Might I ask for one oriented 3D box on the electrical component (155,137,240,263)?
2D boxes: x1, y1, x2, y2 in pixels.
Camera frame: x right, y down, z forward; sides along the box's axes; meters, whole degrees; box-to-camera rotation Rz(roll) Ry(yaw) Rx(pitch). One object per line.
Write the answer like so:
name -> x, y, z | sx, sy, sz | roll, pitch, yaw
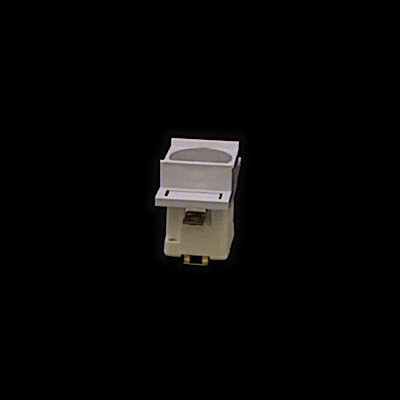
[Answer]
electrical component -> 0.000, 0.000, 0.640 | 0.042, 0.064, 0.080 | 3, 21, 7
